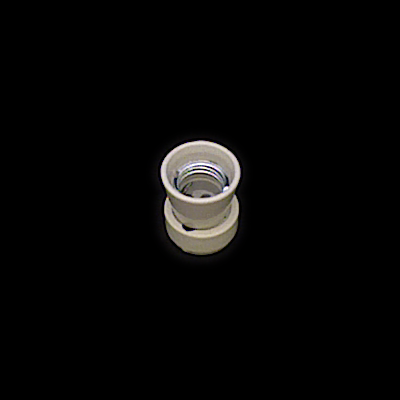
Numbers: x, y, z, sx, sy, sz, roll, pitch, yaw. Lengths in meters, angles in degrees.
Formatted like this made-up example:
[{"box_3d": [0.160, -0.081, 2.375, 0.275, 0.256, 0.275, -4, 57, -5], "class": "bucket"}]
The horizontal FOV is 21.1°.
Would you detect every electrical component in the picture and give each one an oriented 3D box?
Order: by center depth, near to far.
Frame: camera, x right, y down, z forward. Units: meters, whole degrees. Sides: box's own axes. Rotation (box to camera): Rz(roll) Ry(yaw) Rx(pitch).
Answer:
[{"box_3d": [0.000, 0.000, 0.629, 0.045, 0.044, 0.055, 0, -38, 0], "class": "electrical component"}]
